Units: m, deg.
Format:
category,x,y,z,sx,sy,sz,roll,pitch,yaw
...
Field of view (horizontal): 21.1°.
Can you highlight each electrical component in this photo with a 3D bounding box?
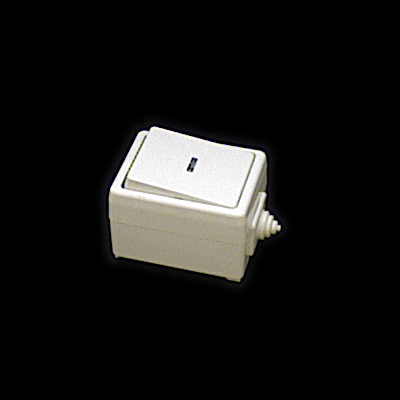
category,x,y,z,sx,sy,sz,roll,pitch,yaw
electrical component,0.000,0.000,0.630,0.096,0.061,0.061,10,43,11
